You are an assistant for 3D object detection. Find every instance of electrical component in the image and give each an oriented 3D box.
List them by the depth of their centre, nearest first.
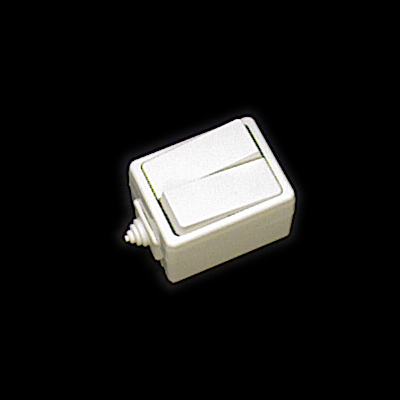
[{"bbox_3d":[0.000,0.000,0.626,0.096,0.062,0.061,-22,-26,-11],"label":"electrical component"}]
